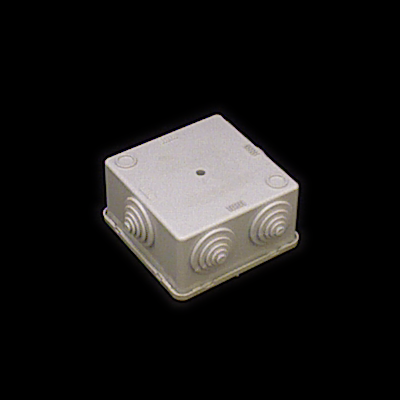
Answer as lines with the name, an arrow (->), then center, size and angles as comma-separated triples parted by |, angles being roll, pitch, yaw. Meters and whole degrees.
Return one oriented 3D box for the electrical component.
electrical component -> 0.000, 0.000, 0.635 | 0.100, 0.049, 0.099 | -24, 48, -25
